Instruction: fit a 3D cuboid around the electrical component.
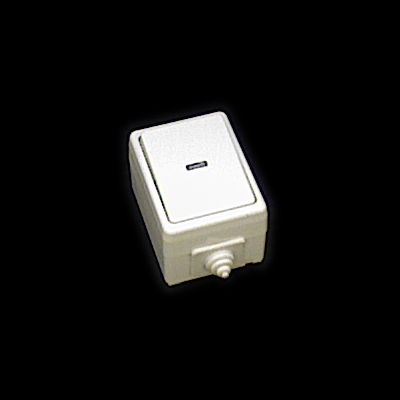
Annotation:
[{"bbox_3d":[0.000,0.000,0.626,0.062,0.096,0.061,-14,-36,-11],"label":"electrical component"}]
